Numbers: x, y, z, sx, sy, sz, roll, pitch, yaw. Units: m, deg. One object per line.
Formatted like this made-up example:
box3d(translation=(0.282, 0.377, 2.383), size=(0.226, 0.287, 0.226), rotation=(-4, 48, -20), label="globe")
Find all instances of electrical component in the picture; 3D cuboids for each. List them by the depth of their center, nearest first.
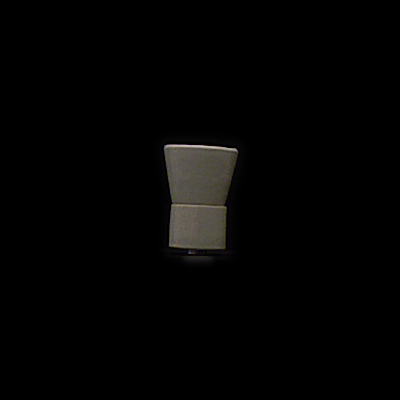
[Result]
box3d(translation=(0.000, 0.000, 0.651), size=(0.044, 0.065, 0.044), rotation=(2, 1, 0), label="electrical component")
